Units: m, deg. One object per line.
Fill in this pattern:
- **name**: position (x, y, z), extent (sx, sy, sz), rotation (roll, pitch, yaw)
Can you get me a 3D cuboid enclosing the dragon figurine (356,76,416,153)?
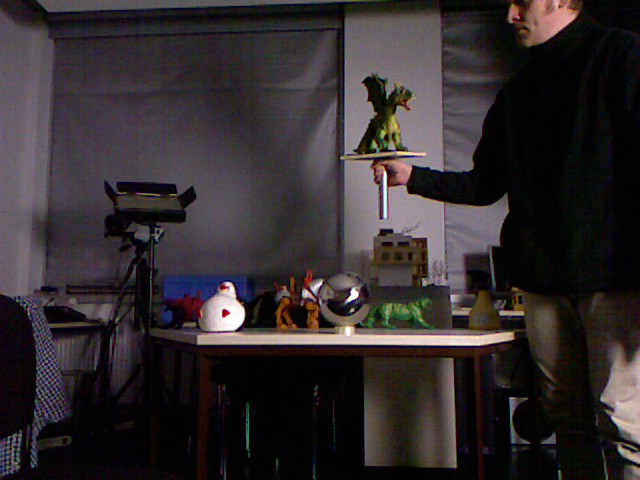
- **dragon figurine**: position (0.185, -0.405, 1.661), extent (0.123, 0.242, 0.412), rotation (-10, 8, -22)
